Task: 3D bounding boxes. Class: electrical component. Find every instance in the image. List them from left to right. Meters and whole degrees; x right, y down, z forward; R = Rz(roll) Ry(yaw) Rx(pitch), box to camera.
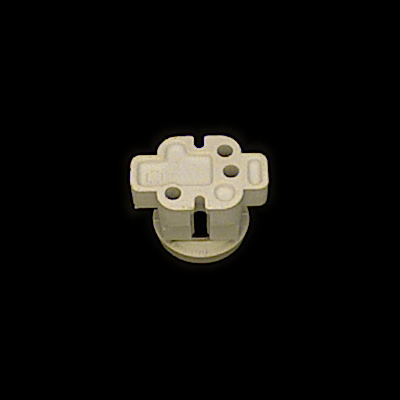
[{"bbox_3d":[0.000,0.000,0.636,0.078,0.057,0.057,-2,-36,-1],"label":"electrical component"}]
